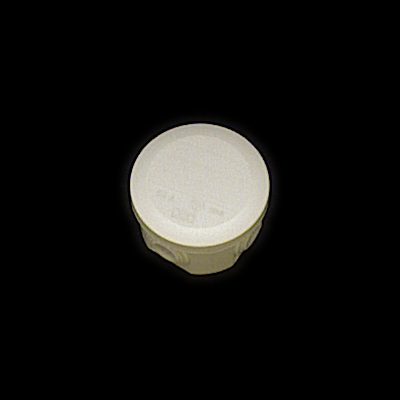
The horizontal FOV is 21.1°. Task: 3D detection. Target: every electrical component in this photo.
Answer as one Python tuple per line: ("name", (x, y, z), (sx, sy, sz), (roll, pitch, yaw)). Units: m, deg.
("electrical component", (0.000, 0.000, 0.630), (0.080, 0.080, 0.050), (0, -27, 0))
